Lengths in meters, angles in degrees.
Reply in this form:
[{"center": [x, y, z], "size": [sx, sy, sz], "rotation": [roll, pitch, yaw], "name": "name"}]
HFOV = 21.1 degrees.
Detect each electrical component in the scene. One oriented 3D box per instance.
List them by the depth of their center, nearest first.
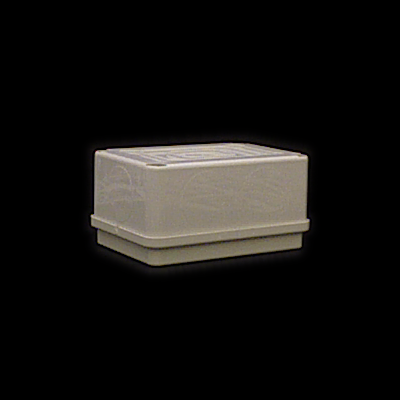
[{"center": [0.000, 0.000, 0.644], "size": [0.113, 0.057, 0.077], "rotation": [-6, 13, -32], "name": "electrical component"}]
